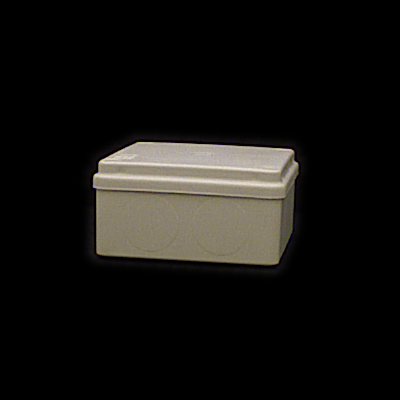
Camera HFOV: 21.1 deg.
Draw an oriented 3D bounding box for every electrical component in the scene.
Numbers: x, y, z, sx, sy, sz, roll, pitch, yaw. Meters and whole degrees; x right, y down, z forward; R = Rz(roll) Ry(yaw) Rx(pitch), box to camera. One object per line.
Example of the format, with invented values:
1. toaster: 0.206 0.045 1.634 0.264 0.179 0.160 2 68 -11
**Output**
1. electrical component: 0.000 0.000 0.645 0.108 0.056 0.108 3 10 9
